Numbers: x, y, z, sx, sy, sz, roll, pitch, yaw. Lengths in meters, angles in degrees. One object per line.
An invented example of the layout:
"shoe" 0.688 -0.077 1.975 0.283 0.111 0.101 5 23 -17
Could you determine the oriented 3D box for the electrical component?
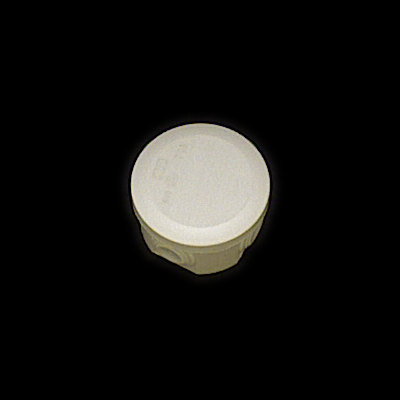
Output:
"electrical component" 0.000 0.000 0.631 0.080 0.080 0.050 0 -27 0
